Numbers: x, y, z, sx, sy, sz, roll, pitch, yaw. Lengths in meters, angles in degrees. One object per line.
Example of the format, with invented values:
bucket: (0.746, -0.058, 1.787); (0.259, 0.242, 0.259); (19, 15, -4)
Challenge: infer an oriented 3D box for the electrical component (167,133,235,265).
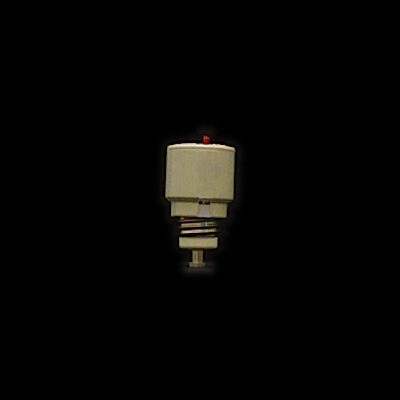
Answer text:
electrical component: (0.000, 0.000, 0.647); (0.040, 0.078, 0.040); (1, 1, 0)
